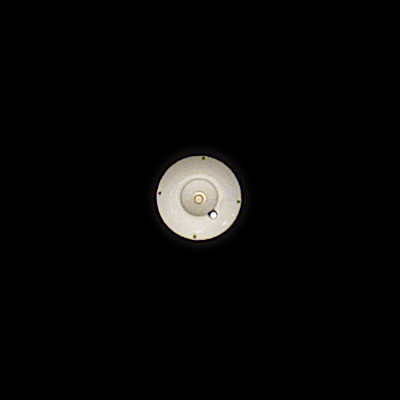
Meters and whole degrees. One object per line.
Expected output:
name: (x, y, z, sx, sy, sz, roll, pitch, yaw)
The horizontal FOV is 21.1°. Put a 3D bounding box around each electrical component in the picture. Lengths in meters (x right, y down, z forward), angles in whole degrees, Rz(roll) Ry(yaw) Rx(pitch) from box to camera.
electrical component: (0.000, 0.000, 0.635, 0.048, 0.048, 0.062, 0, -6, 0)
